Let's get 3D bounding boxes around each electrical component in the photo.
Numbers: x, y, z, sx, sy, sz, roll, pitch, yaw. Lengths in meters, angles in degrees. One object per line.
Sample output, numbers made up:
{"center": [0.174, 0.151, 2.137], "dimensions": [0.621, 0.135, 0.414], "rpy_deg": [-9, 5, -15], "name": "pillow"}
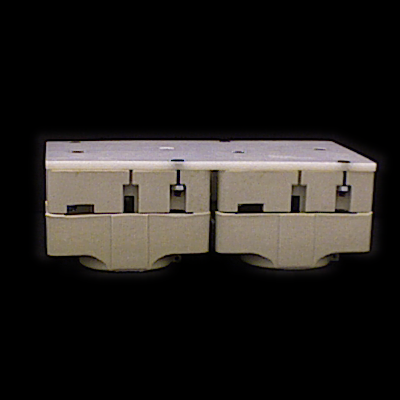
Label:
{"center": [0.000, 0.000, 0.644], "dimensions": [0.186, 0.060, 0.104], "rpy_deg": [0, 10, -8], "name": "electrical component"}
